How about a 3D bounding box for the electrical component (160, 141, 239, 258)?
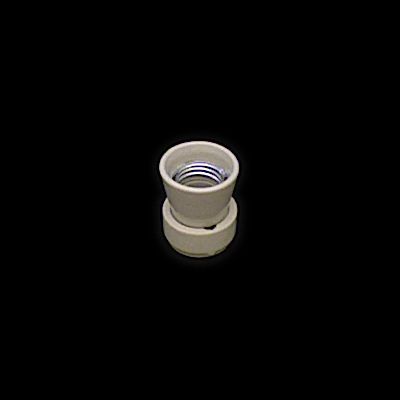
[{"bbox_3d":[0.000,0.000,0.630,0.045,0.055,0.044,0,42,0],"label":"electrical component"}]
